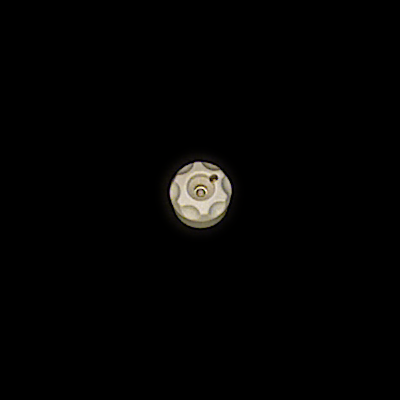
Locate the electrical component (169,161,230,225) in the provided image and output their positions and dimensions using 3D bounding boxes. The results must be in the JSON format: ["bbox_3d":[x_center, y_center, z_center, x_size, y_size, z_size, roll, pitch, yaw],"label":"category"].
[{"bbox_3d":[0.000,0.000,0.634,0.035,0.035,0.061,0,-16,1],"label":"electrical component"}]
